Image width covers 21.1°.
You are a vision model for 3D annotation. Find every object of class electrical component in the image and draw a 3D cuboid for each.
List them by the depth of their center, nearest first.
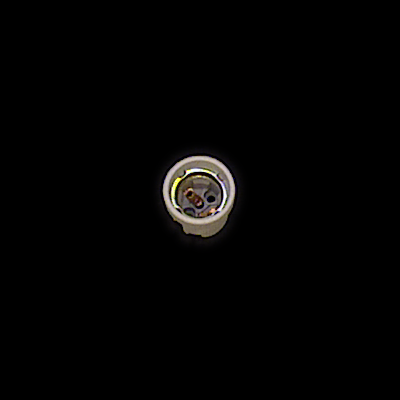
[{"bbox_3d":[0.000,0.000,0.626,0.040,0.040,0.046,0,-16,0],"label":"electrical component"}]
